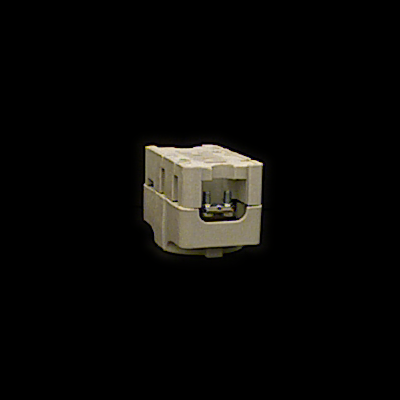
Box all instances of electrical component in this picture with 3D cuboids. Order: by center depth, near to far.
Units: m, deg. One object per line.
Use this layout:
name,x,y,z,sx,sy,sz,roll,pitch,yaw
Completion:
electrical component,0.000,0.000,0.652,0.050,0.056,0.088,-2,12,-18
